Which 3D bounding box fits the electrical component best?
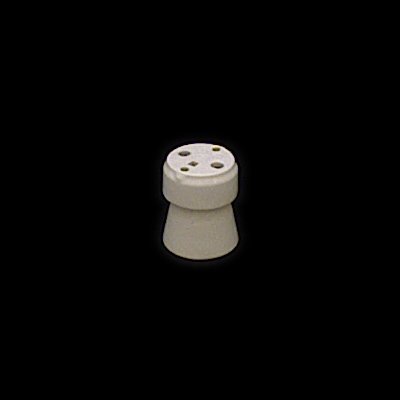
[{"bbox_3d":[0.000,0.000,0.636,0.045,0.056,0.044,1,31,0],"label":"electrical component"}]
